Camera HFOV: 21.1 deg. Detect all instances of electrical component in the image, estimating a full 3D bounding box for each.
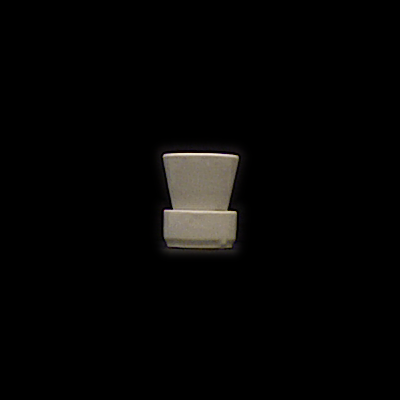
[{"bbox_3d":[0.000,0.000,0.648,0.045,0.055,0.045,1,1,0],"label":"electrical component"}]
